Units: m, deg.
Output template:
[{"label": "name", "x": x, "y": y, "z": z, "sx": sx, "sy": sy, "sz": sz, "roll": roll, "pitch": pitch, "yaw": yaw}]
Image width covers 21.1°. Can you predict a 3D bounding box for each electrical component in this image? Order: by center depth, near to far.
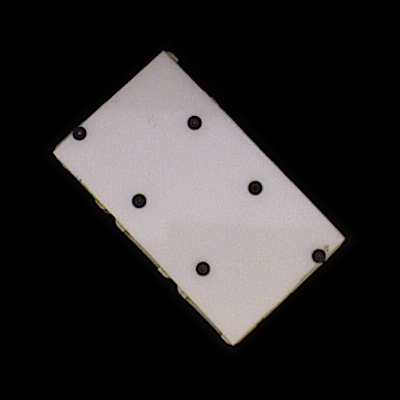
[{"label": "electrical component", "x": 0.000, "y": 0.000, "z": 0.631, "sx": 0.090, "sy": 0.150, "sz": 0.061, "roll": -43, "pitch": -5, "yaw": -4}]
